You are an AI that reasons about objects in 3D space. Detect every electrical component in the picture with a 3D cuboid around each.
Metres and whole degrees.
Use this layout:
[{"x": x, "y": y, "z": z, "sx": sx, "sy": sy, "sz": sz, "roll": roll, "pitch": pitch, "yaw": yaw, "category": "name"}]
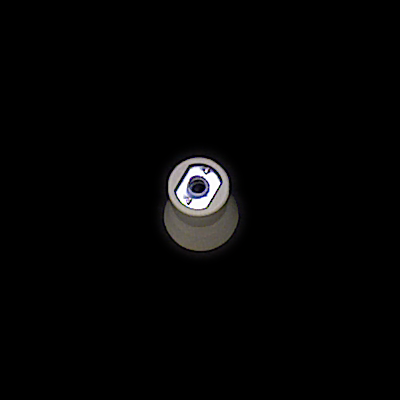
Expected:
[{"x": 0.000, "y": 0.000, "z": 0.625, "sx": 0.044, "sy": 0.044, "sz": 0.065, "roll": 0, "pitch": -17, "yaw": 1, "category": "electrical component"}]
